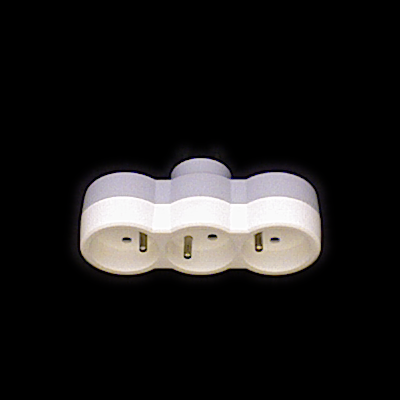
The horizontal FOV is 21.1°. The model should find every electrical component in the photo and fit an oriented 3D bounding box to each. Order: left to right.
[{"bbox_3d":[0.000,0.000,0.631,0.138,0.073,0.052,0,-39,0],"label":"electrical component"}]
